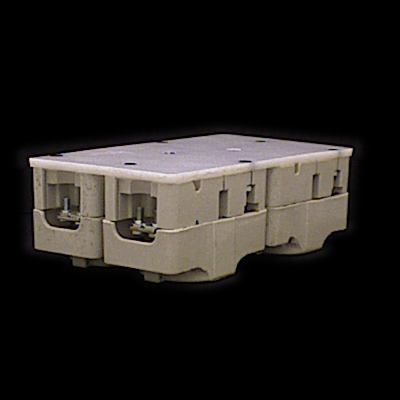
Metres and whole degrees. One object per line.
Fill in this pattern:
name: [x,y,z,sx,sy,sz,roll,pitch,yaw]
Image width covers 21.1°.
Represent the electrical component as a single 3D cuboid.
electrical component: [0.000,0.000,0.644,0.105,0.061,0.186,9,12,36]
